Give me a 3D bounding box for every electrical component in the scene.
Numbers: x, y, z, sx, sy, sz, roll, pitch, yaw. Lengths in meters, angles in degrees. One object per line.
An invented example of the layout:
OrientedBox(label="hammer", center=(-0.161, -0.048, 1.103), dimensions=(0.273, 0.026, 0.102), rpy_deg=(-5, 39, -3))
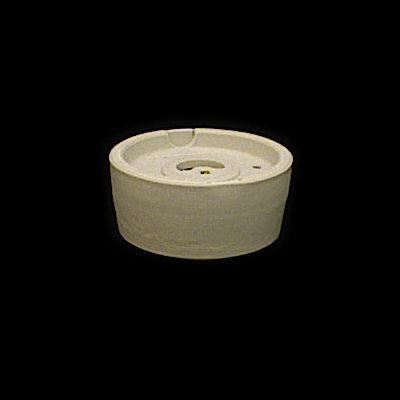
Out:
OrientedBox(label="electrical component", center=(0.000, 0.000, 0.643), dimensions=(0.108, 0.061, 0.106), rpy_deg=(1, 21, 0))
